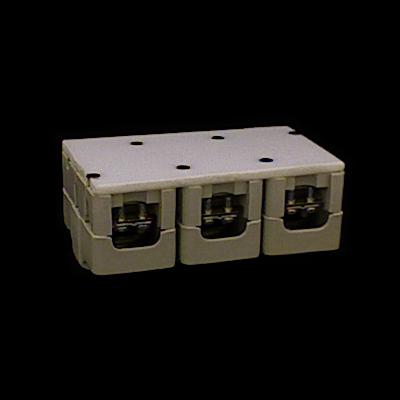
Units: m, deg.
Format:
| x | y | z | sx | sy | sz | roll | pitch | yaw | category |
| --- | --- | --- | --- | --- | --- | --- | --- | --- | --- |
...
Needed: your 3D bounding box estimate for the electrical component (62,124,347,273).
| x | y | z | sx | sy | sz | roll | pitch | yaw | category |
| --- | --- | --- | --- | --- | --- | --- | --- | --- | --- |
| 0.000 | 0.000 | 0.648 | 0.150 | 0.063 | 0.088 | -5 | 22 | -17 | electrical component |
